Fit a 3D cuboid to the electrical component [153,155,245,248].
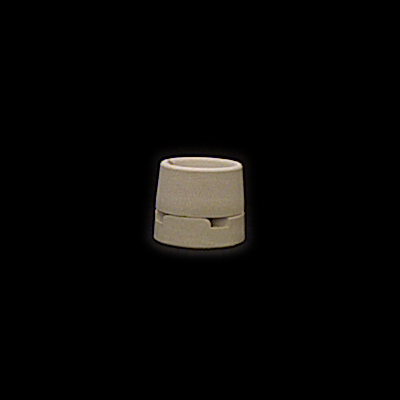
[{"bbox_3d":[0.000,0.000,0.645,0.055,0.047,0.055,2,12,0],"label":"electrical component"}]
